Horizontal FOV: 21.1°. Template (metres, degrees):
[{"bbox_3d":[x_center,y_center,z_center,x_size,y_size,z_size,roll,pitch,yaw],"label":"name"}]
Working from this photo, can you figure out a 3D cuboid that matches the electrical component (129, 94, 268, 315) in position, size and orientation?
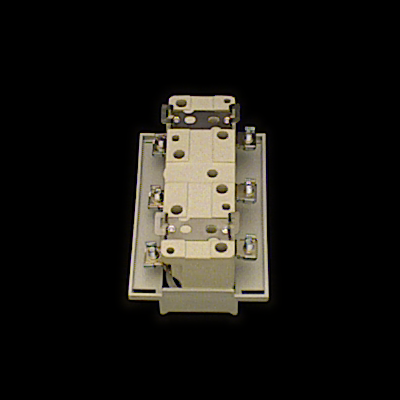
[{"bbox_3d":[0.000,0.000,0.634,0.079,0.121,0.063,0,-37,1],"label":"electrical component"}]
